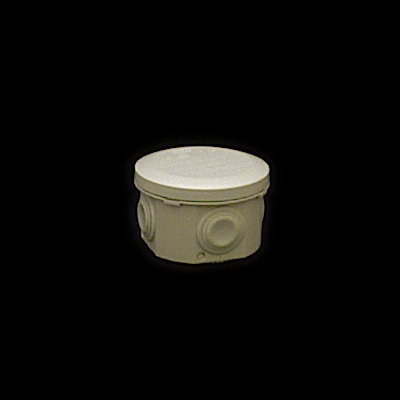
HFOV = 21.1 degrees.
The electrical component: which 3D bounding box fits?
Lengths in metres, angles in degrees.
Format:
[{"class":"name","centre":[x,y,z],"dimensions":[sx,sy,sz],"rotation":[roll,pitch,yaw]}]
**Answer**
[{"class":"electrical component","centre":[0.000,0.000,0.642],"dimensions":[0.080,0.051,0.079],"rotation":[1,21,0]}]
